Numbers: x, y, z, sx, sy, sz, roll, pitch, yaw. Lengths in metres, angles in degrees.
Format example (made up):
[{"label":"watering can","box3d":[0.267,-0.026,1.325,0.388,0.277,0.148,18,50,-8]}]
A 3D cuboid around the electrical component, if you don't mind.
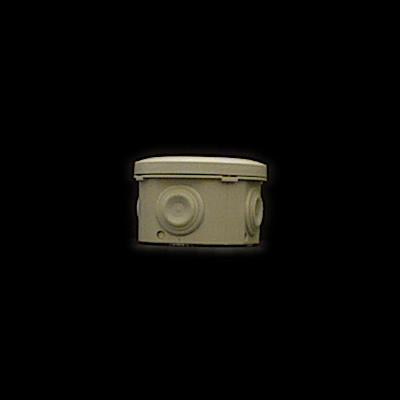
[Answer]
[{"label":"electrical component","box3d":[0.000,0.000,0.647,0.080,0.051,0.080,1,0,0]}]
